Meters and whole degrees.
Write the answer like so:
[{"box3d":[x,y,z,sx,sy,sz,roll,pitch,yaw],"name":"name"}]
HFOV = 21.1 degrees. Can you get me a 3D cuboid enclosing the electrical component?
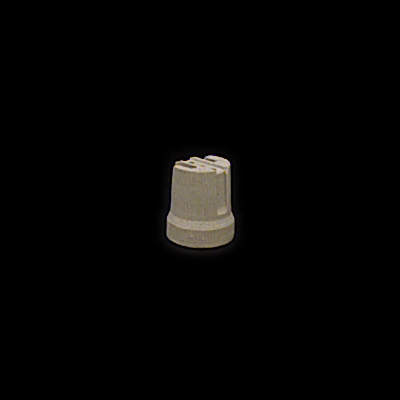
[{"box3d":[0.000,0.000,0.643,0.040,0.046,0.040,2,21,0],"name":"electrical component"}]
